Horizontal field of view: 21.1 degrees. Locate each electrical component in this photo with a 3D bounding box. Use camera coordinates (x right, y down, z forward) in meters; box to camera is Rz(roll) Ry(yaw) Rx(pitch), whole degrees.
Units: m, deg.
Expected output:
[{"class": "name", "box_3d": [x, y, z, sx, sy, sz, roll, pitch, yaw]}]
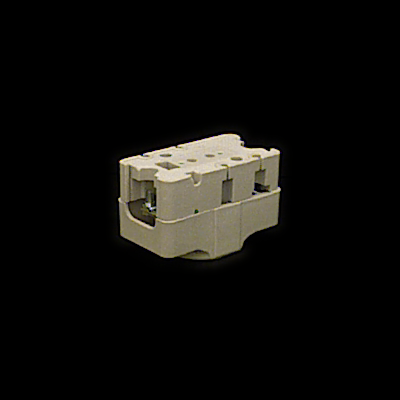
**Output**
[{"class": "electrical component", "box_3d": [0.000, 0.000, 0.646, 0.090, 0.056, 0.049, -17, 29, -37]}]
